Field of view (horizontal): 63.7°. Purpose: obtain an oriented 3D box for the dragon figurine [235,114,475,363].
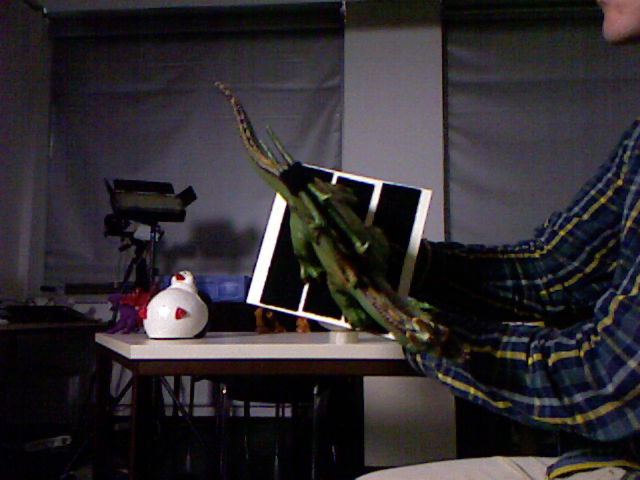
[{"bbox_3d":[0.002,-0.024,0.558,0.123,0.414,0.241,-42,-11,-3],"label":"dragon figurine"}]
